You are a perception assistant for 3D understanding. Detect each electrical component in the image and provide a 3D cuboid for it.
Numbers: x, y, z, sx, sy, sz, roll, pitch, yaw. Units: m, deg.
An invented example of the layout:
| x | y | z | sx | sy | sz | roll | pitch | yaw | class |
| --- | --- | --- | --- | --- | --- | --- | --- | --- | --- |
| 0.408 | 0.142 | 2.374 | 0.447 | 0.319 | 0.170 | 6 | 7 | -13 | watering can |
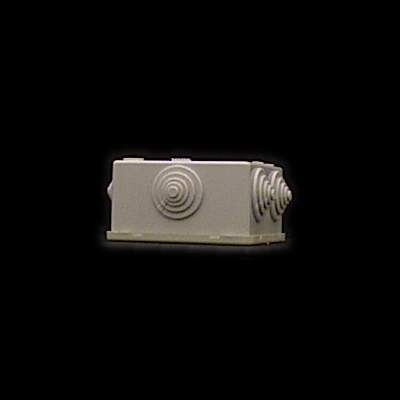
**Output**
| x | y | z | sx | sy | sz | roll | pitch | yaw | class |
| --- | --- | --- | --- | --- | --- | --- | --- | --- | --- |
| 0.000 | 0.000 | 0.651 | 0.099 | 0.048 | 0.100 | 2 | 0 | 18 | electrical component |
